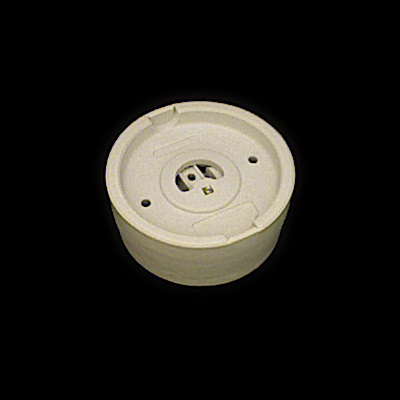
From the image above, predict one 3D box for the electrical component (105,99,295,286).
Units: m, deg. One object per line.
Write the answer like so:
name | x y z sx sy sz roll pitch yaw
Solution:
electrical component | 0.000 0.000 0.634 0.108 0.107 0.060 0 -37 0
